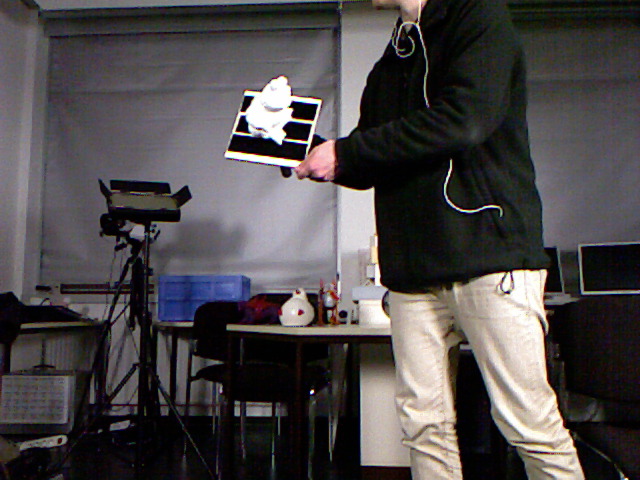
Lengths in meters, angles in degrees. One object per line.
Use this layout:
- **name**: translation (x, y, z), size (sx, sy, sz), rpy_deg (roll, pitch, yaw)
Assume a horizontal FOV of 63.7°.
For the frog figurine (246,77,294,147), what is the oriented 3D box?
- **frog figurine**: translation (-0.125, -0.323, 1.240), size (0.124, 0.139, 0.156), rpy_deg (32, -18, 21)
